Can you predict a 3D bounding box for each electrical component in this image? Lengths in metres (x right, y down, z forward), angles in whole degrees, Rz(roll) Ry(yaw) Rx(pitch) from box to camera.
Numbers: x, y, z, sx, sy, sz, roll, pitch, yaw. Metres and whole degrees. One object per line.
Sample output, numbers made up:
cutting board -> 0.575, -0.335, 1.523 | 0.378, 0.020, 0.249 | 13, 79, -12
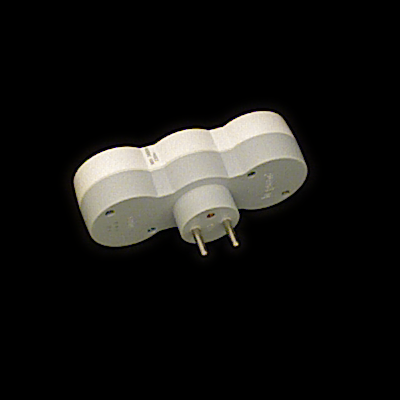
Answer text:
electrical component -> 0.000, 0.000, 0.637 | 0.139, 0.073, 0.052 | -15, -34, -12
